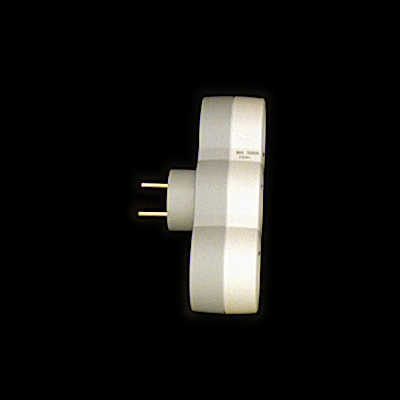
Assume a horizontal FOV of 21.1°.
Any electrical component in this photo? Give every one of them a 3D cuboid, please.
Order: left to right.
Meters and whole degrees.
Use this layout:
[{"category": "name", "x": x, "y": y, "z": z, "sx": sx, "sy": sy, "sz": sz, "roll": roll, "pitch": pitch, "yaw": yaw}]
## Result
[{"category": "electrical component", "x": 0.000, "y": 0.000, "z": 0.638, "sx": 0.073, "sy": 0.138, "sz": 0.052, "roll": 2, "pitch": -26, "yaw": 3}]
